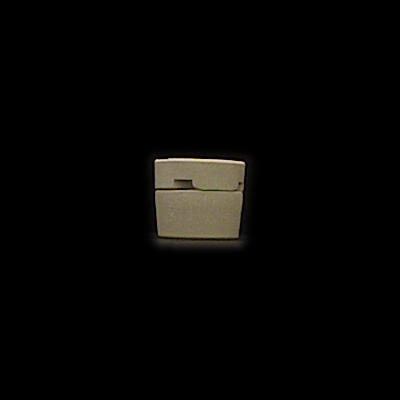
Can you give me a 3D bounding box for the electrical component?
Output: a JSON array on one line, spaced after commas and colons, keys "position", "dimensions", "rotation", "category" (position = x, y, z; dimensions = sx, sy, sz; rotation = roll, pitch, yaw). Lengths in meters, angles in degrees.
[{"position": [0.000, 0.000, 0.651], "dimensions": [0.055, 0.047, 0.055], "rotation": [1, 1, 0], "category": "electrical component"}]
